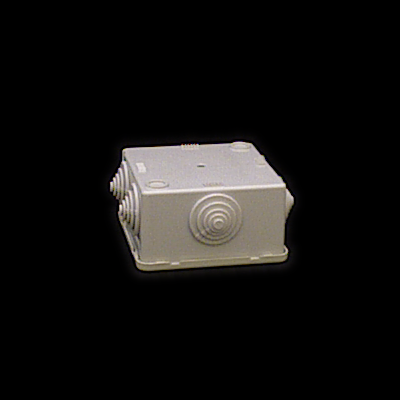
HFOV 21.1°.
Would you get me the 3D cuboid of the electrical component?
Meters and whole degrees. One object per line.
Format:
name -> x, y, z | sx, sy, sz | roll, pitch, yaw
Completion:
electrical component -> 0.000, 0.000, 0.642 | 0.100, 0.049, 0.098 | -3, 21, -12
